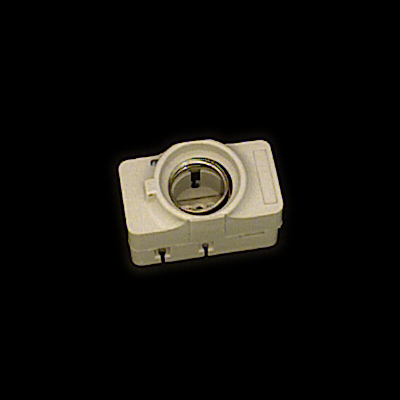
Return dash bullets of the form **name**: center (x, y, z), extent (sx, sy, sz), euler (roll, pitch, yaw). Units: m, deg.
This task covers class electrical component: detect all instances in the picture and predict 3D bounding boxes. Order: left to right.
- **electrical component**: center (0.000, 0.000, 0.636), extent (0.090, 0.050, 0.055), euler (-9, -26, -5)
